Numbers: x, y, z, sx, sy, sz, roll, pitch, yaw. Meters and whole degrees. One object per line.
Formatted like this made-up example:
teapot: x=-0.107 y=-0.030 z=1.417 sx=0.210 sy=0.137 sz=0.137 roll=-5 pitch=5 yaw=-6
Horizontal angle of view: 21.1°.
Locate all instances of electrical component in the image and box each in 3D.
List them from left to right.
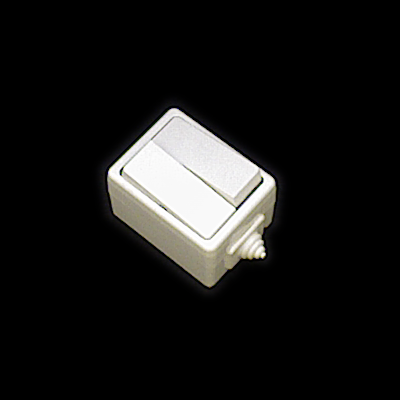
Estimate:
electrical component: x=0.000 y=0.000 z=0.626 sx=0.096 sy=0.062 sz=0.060 roll=37 pitch=-22 yaw=18
